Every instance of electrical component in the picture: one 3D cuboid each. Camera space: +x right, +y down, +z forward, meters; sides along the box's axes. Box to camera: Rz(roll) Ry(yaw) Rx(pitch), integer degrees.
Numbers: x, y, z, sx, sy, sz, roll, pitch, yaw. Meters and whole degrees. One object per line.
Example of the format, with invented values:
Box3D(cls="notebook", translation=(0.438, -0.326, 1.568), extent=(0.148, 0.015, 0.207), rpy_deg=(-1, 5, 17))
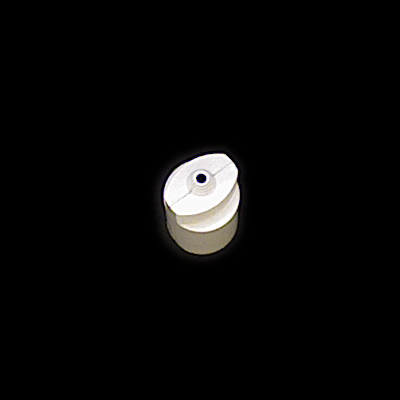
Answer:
Box3D(cls="electrical component", translation=(0.000, 0.000, 0.616), extent=(0.043, 0.043, 0.080), rpy_deg=(0, -17, 0))
